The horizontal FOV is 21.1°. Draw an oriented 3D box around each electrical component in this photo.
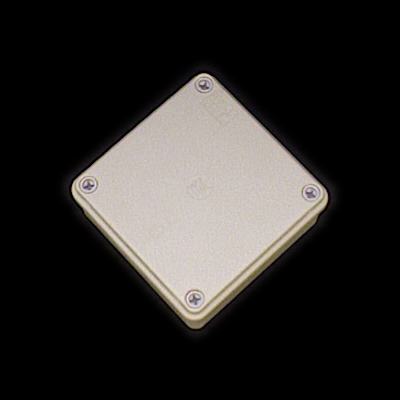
[{"bbox_3d":[0.000,0.000,0.629,0.109,0.109,0.056,-42,-12,-11],"label":"electrical component"}]
